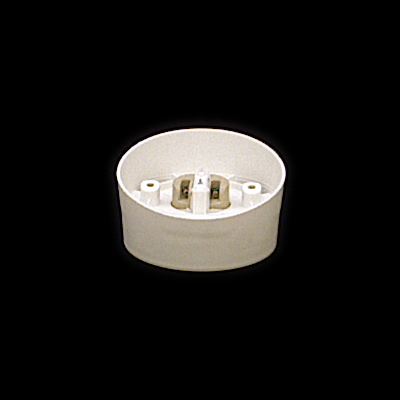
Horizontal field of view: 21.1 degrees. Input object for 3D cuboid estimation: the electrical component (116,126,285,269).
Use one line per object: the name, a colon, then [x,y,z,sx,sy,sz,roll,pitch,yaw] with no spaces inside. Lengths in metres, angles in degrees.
electrical component: [0.000,0.000,0.638,0.099,0.065,0.097,1,20,0]
